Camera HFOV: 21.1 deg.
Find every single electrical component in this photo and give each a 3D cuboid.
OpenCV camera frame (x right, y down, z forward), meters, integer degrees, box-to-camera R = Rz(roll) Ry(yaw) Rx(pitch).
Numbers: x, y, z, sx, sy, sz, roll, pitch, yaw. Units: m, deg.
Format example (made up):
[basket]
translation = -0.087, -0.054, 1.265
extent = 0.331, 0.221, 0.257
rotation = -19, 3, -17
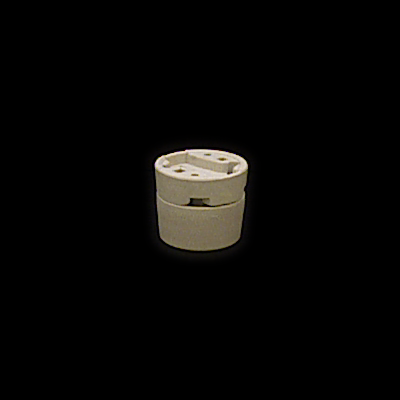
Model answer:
[electrical component]
translation = 0.000, 0.000, 0.642
extent = 0.055, 0.047, 0.055
rotation = 1, 21, 0
